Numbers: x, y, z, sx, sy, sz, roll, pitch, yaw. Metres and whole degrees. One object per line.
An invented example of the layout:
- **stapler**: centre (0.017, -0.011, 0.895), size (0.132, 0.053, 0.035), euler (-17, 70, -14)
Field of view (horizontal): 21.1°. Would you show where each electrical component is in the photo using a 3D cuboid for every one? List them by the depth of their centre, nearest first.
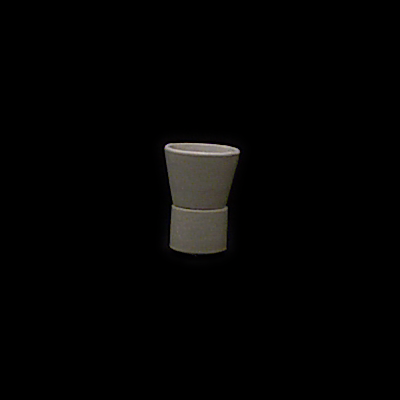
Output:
- **electrical component**: centre (0.000, 0.000, 0.644), size (0.044, 0.066, 0.044), euler (2, 11, 0)
